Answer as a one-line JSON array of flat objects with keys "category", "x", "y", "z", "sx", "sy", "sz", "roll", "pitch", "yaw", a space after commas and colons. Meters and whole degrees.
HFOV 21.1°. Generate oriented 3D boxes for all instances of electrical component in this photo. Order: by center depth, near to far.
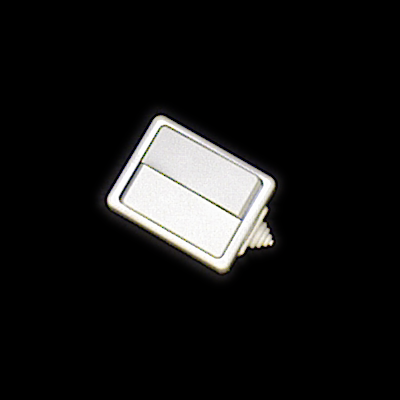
[{"category": "electrical component", "x": 0.000, "y": 0.000, "z": 0.627, "sx": 0.096, "sy": 0.062, "sz": 0.061, "roll": 30, "pitch": -5, "yaw": 4}]
